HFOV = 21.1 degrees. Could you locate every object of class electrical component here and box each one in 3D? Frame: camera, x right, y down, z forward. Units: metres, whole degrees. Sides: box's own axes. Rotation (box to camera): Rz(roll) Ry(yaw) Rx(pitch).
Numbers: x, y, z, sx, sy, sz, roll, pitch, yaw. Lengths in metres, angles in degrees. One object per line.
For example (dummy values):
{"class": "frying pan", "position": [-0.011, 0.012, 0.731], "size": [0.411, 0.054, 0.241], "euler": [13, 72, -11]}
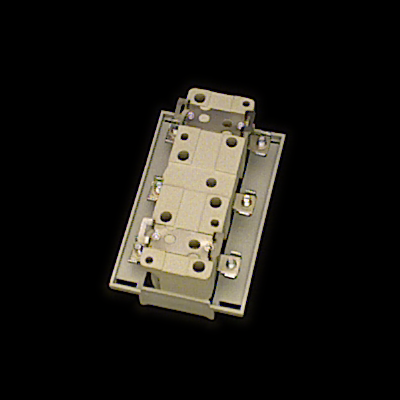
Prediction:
{"class": "electrical component", "position": [0.000, 0.000, 0.633], "size": [0.078, 0.122, 0.063], "euler": [11, -26, 6]}
